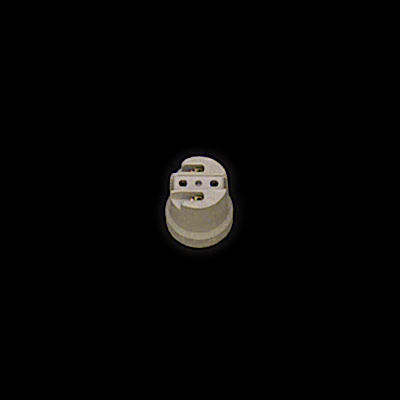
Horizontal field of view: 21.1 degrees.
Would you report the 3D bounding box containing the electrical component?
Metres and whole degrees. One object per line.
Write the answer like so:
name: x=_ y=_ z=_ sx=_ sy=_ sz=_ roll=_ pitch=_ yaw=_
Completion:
electrical component: x=0.000 y=0.000 z=0.633 sx=0.040 sy=0.040 sz=0.046 roll=0 pitch=-27 yaw=-1
